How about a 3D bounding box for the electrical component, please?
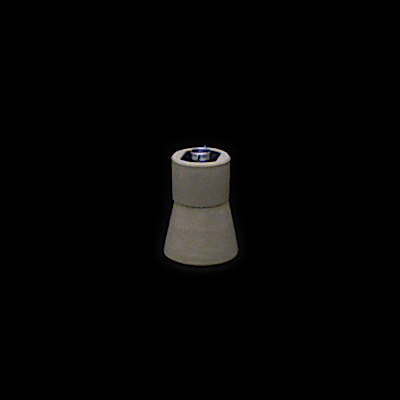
[{"bbox_3d":[0.000,0.000,0.639,0.044,0.066,0.044,0,21,0],"label":"electrical component"}]
